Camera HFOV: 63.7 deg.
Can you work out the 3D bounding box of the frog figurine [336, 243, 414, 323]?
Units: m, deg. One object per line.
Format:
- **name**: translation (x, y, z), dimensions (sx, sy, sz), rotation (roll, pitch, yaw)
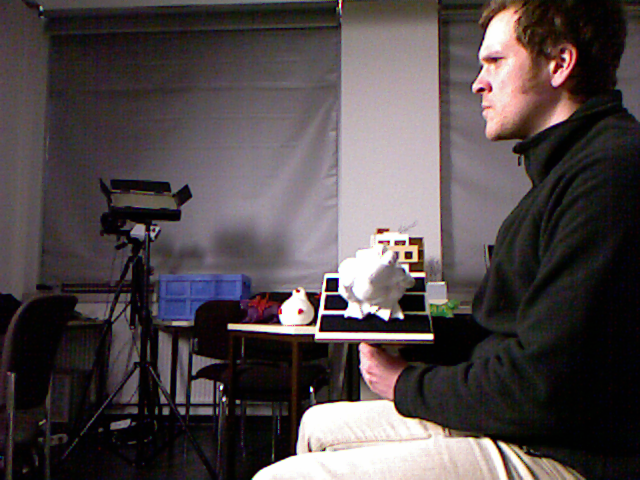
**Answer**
- **frog figurine**: translation (0.096, 0.061, 0.914), dimensions (0.138, 0.156, 0.125), rotation (10, 35, 19)
